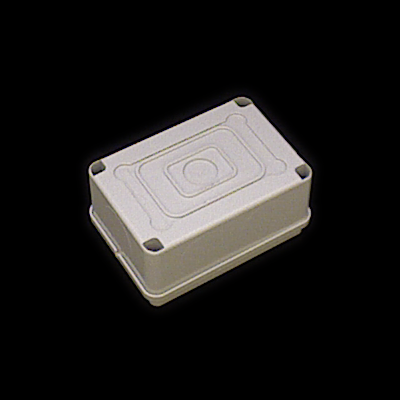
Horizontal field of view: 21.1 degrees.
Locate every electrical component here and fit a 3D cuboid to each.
[{"bbox_3d":[0.000,0.000,0.629,0.113,0.078,0.057,-26,-33,-19],"label":"electrical component"}]
